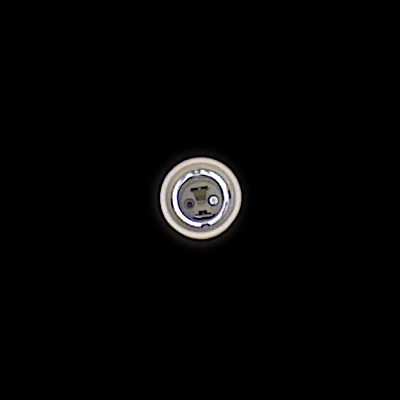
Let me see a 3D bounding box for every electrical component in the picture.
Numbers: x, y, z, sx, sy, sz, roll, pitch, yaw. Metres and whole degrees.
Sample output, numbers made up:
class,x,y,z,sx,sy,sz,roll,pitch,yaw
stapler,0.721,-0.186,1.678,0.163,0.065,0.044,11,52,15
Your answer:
class,x,y,z,sx,sy,sz,roll,pitch,yaw
electrical component,0.000,0.000,0.629,0.045,0.045,0.055,0,-5,1
